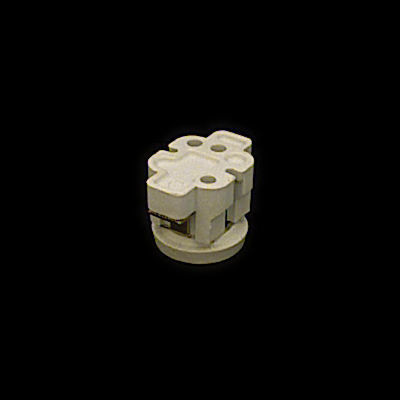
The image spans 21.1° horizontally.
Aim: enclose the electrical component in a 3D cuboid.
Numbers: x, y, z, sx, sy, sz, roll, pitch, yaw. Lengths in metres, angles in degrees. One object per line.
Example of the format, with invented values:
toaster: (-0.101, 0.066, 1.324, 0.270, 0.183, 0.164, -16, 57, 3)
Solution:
electrical component: (0.000, 0.000, 0.640, 0.057, 0.057, 0.078, 20, 38, 27)
